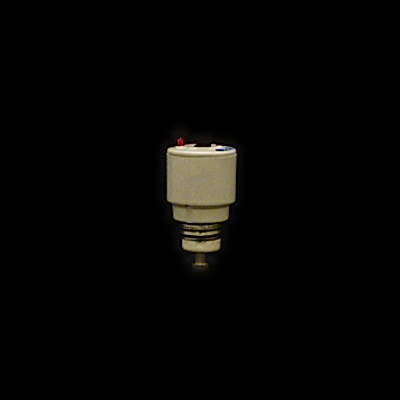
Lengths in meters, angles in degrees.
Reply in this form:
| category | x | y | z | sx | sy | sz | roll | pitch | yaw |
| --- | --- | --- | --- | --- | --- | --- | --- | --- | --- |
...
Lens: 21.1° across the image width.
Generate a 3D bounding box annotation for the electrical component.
| category | x | y | z | sx | sy | sz | roll | pitch | yaw |
| --- | --- | --- | --- | --- | --- | --- | --- | --- | --- |
| electrical component | 0.000 | 0.000 | 0.644 | 0.040 | 0.079 | 0.040 | 1 | 11 | 0 |
